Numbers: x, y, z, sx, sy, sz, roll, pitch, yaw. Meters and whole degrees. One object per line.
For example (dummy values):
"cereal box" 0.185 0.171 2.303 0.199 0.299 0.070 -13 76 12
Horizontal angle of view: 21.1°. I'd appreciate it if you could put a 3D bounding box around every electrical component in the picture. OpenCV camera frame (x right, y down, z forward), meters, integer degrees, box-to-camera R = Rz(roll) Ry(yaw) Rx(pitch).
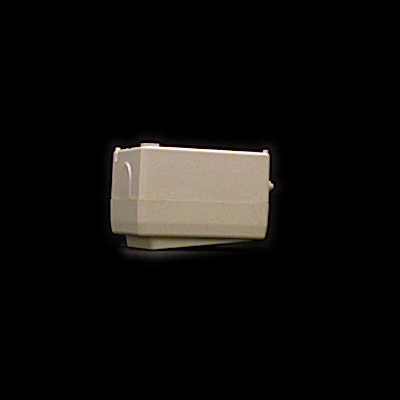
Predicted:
"electrical component" 0.000 0.000 0.648 0.096 0.061 0.061 2 0 -21
